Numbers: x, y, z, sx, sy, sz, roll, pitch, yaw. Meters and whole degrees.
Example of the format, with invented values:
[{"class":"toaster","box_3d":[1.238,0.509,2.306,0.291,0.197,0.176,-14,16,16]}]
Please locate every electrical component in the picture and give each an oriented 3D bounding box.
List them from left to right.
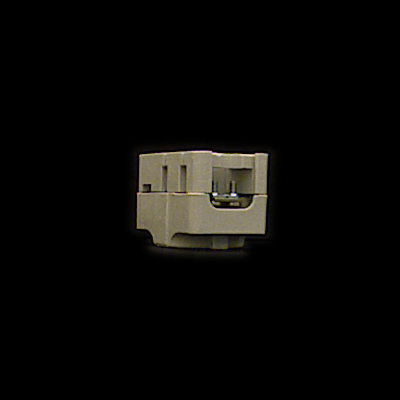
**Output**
[{"class":"electrical component","box_3d":[0.000,0.000,0.657,0.050,0.056,0.089,1,1,-26]}]
